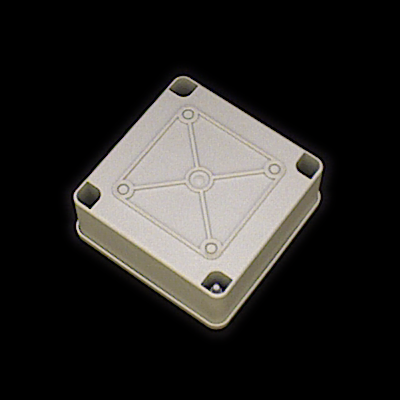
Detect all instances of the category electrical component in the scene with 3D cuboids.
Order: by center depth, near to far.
[{"bbox_3d":[0.000,0.000,0.627,0.108,0.109,0.056,33,-22,15],"label":"electrical component"}]
